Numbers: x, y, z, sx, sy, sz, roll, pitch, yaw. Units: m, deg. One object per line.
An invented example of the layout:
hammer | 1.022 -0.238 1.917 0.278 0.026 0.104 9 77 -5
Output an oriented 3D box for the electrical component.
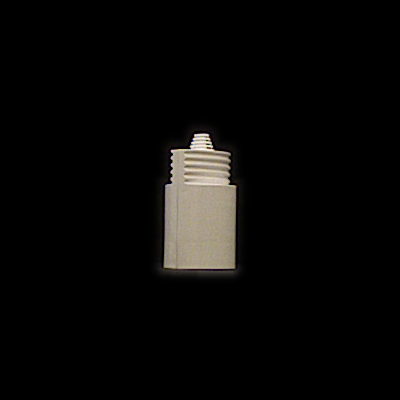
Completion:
electrical component | 0.000 0.000 0.650 0.043 0.081 0.043 1 1 0
